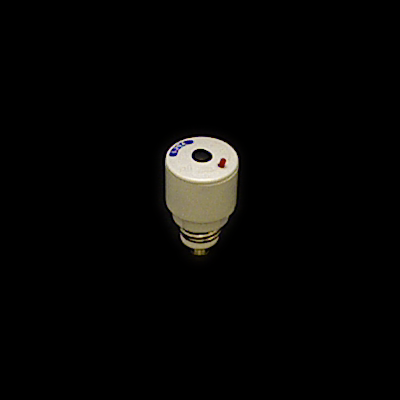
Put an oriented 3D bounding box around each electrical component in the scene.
[{"bbox_3d":[0.000,0.000,0.623,0.040,0.079,0.039,1,42,-1],"label":"electrical component"}]
